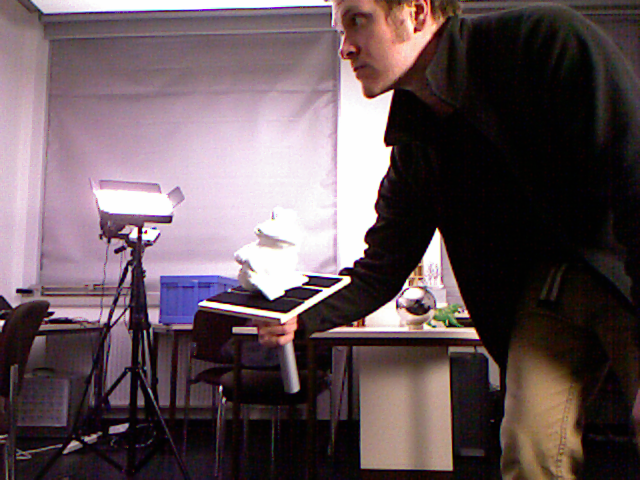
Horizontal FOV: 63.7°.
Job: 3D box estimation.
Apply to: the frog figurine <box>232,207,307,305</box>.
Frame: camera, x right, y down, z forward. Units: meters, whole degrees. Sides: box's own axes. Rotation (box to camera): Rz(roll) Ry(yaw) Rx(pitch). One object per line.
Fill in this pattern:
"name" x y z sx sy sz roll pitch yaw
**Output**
"frog figurine" -0.095 0.018 0.938 0.139 0.158 0.124 -15 16 -27
